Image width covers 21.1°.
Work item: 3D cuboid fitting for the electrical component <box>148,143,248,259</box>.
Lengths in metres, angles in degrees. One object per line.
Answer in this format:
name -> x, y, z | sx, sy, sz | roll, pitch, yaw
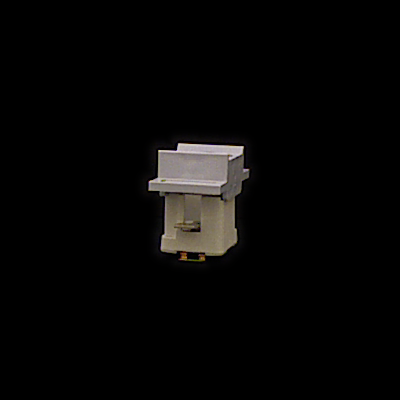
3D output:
electrical component -> 0.000, 0.000, 0.641 | 0.042, 0.064, 0.080 | 5, 11, 14
